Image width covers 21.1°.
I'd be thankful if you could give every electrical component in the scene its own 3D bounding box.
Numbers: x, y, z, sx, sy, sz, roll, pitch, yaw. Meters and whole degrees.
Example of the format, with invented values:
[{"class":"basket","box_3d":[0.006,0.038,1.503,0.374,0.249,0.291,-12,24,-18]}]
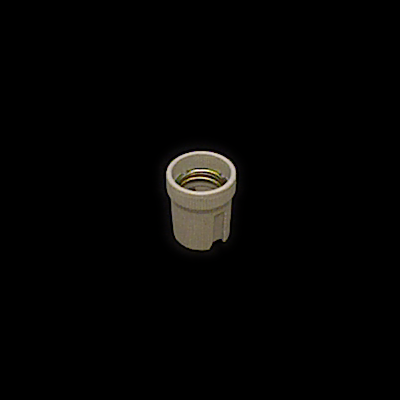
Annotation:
[{"class":"electrical component","box_3d":[0.000,0.000,0.634,0.040,0.047,0.039,1,42,0]}]
